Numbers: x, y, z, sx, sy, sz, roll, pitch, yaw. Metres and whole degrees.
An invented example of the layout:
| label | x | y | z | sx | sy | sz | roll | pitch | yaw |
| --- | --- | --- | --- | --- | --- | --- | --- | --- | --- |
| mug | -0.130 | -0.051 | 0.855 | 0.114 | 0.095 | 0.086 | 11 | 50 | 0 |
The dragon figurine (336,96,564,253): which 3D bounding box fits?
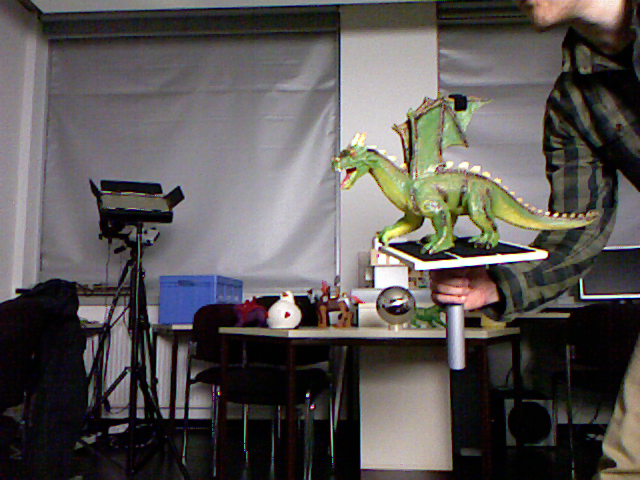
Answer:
| label | x | y | z | sx | sy | sz | roll | pitch | yaw |
| --- | --- | --- | --- | --- | --- | --- | --- | --- | --- |
| dragon figurine | 0.219 | -0.113 | 0.843 | 0.412 | 0.241 | 0.123 | -8 | 11 | -15 |
